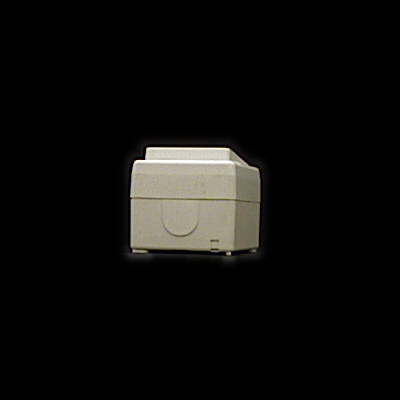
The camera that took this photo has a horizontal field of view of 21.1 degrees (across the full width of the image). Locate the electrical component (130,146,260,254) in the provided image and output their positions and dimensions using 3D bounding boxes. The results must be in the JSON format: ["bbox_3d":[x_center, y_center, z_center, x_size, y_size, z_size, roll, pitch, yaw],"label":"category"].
[{"bbox_3d":[0.000,0.000,0.652,0.061,0.061,0.096,1,0,14],"label":"electrical component"}]
